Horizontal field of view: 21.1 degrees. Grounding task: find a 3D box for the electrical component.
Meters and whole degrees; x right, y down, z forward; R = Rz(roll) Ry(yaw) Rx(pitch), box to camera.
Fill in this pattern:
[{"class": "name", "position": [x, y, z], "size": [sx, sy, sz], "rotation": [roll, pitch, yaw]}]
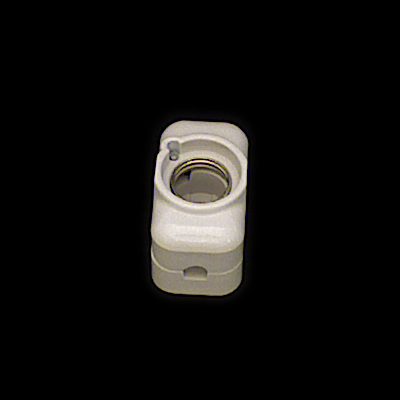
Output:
[{"class": "electrical component", "position": [0.000, 0.000, 0.635], "size": [0.054, 0.095, 0.059], "rotation": [2, -37, 1]}]
